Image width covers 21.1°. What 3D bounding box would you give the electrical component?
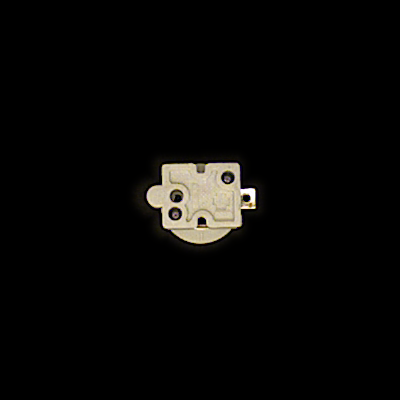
[{"bbox_3d":[0.000,0.000,0.639,0.066,0.048,0.055,-1,-7,0],"label":"electrical component"}]
